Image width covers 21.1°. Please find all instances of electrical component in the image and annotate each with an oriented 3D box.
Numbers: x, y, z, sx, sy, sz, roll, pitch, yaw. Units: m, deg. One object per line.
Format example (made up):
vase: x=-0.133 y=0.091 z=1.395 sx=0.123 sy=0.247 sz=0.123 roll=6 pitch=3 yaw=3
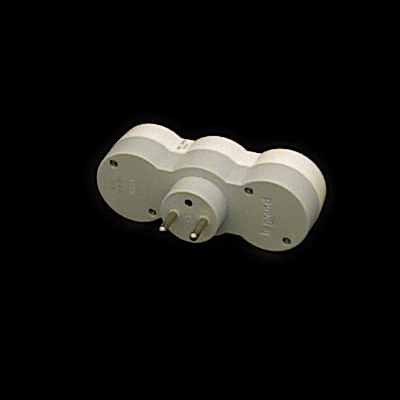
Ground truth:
electrical component: x=0.000 y=0.000 z=0.641 sx=0.137 sy=0.053 sz=0.073 roll=12 pitch=35 yaw=17
